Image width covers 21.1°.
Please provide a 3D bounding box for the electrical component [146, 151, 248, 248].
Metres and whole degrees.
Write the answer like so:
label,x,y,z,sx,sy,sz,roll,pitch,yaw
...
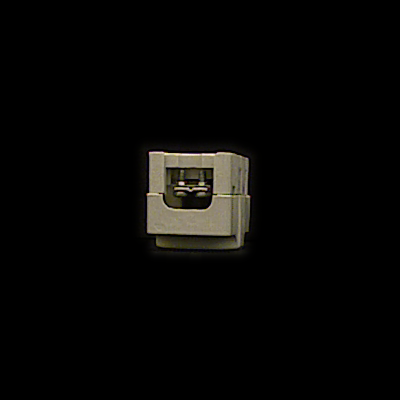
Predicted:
label,x,y,z,sx,sy,sz,roll,pitch,yaw
electrical component,0.000,0.000,0.656,0.050,0.056,0.090,1,0,9
